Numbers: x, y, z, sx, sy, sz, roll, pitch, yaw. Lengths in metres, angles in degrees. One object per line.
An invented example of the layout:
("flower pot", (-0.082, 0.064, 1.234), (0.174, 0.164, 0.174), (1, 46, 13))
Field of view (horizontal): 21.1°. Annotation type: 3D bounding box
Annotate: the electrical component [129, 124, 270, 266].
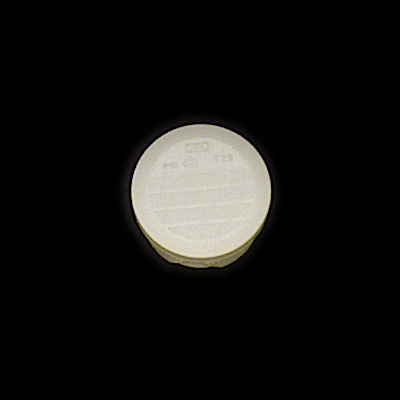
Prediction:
("electrical component", (0.000, 0.000, 0.630), (0.080, 0.080, 0.050), (0, -17, 0))
